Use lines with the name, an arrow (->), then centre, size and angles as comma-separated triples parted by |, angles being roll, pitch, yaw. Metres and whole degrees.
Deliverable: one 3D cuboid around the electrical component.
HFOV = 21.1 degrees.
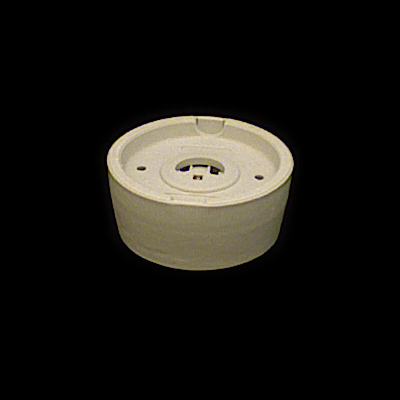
electrical component -> 0.000, 0.000, 0.638 | 0.108, 0.061, 0.106 | 1, 31, 0
